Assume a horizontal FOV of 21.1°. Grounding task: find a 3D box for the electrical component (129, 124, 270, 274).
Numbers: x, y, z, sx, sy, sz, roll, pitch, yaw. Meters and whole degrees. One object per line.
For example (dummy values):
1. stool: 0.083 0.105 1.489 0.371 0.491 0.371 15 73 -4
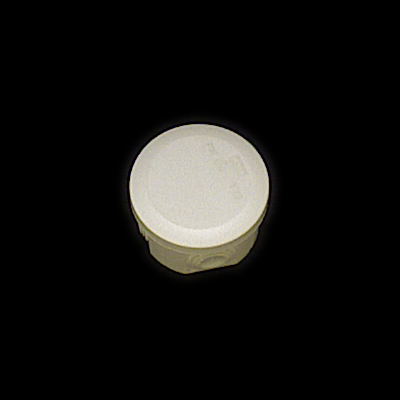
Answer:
1. electrical component: 0.000 0.000 0.629 0.080 0.080 0.050 0 -27 0
